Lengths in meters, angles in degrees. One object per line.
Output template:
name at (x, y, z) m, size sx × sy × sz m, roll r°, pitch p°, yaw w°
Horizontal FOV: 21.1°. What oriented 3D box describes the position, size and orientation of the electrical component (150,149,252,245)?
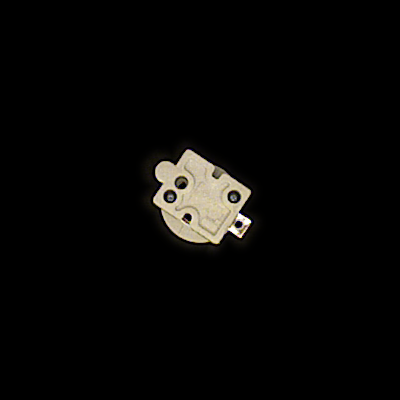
electrical component at (0.000, 0.000, 0.639) m, size 0.066 × 0.048 × 0.055 m, roll 34°, pitch -5°, yaw 3°
